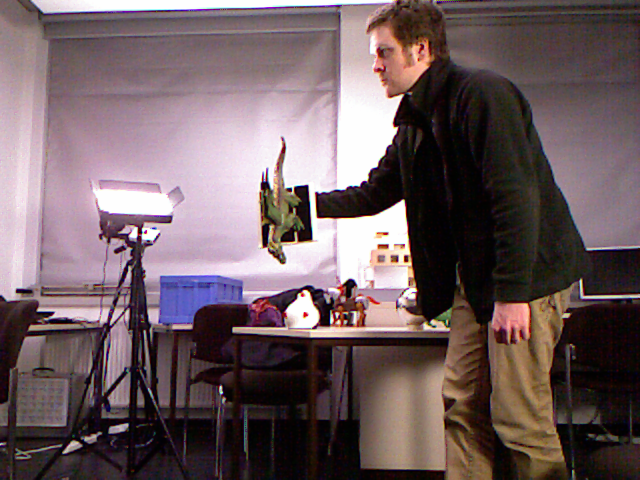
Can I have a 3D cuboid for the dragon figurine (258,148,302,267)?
[{"bbox_3d":[-0.138,-0.118,1.598,0.122,0.415,0.241,-7,-10,6],"label":"dragon figurine"}]
